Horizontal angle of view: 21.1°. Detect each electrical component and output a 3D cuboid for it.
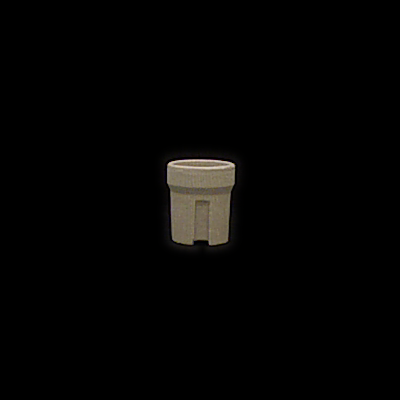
[{"bbox_3d":[0.000,0.000,0.646,0.040,0.046,0.040,1,11,0],"label":"electrical component"}]
